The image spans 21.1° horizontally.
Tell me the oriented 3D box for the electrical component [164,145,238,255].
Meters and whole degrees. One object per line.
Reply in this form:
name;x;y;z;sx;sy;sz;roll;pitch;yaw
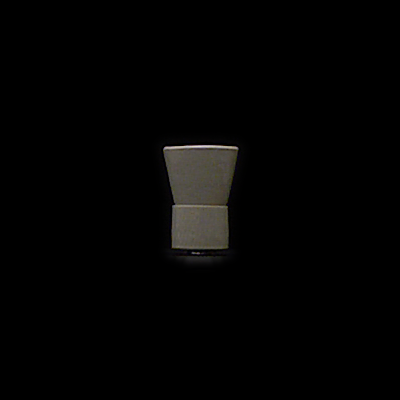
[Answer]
electrical component;0.000;0.000;0.647;0.044;0.065;0.044;1;2;0
